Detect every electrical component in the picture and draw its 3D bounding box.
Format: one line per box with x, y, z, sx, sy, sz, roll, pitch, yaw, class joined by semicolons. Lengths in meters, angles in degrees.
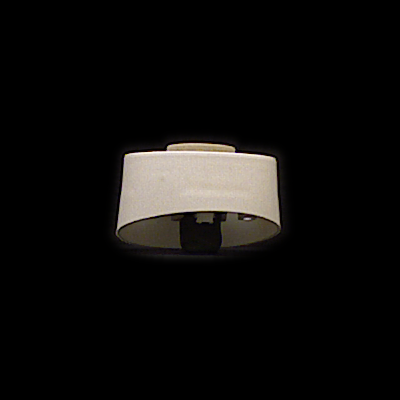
0.000;0.000;0.649;0.099;0.064;0.099;1;-1;0;electrical component
